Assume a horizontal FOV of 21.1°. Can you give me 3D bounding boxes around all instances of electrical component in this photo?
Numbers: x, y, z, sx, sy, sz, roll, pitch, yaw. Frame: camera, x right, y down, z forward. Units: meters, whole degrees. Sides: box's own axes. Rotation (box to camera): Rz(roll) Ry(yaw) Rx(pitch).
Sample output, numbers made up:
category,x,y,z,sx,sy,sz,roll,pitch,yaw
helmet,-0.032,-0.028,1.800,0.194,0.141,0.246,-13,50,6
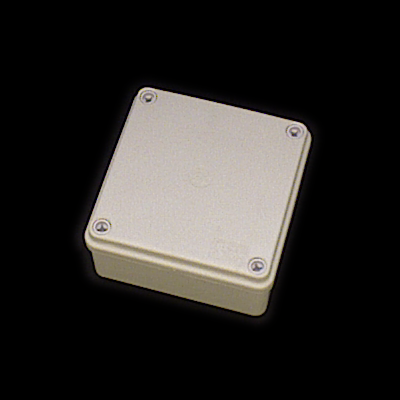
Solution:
category,x,y,z,sx,sy,sz,roll,pitch,yaw
electrical component,0.000,0.000,0.630,0.108,0.109,0.056,14,-27,7
